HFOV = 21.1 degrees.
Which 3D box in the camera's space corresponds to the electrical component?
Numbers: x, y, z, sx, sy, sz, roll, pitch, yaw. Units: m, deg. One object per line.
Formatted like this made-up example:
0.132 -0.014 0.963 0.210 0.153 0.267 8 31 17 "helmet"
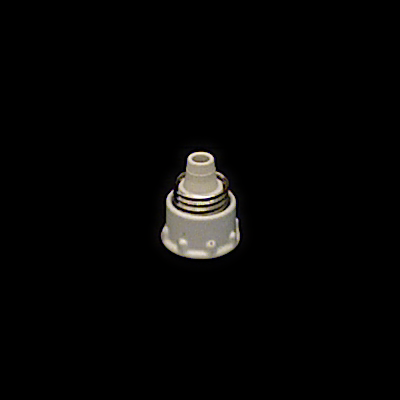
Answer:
0.000 0.000 0.639 0.048 0.063 0.047 0 33 0 "electrical component"
